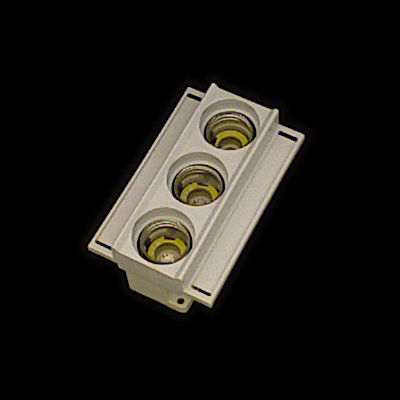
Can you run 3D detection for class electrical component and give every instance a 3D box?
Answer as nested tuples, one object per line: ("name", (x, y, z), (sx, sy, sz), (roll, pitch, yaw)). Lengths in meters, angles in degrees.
("electrical component", (0.000, 0.000, 0.637), (0.078, 0.121, 0.063), (25, -24, 14))
